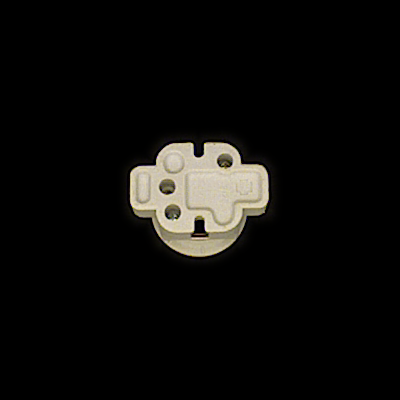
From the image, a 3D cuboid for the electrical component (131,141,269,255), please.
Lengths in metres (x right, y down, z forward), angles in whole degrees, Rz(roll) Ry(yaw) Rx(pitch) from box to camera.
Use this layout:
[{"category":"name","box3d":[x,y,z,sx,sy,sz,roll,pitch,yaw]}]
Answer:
[{"category":"electrical component","box3d":[0.000,0.000,0.636,0.078,0.058,0.056,-2,-17,-2]}]
